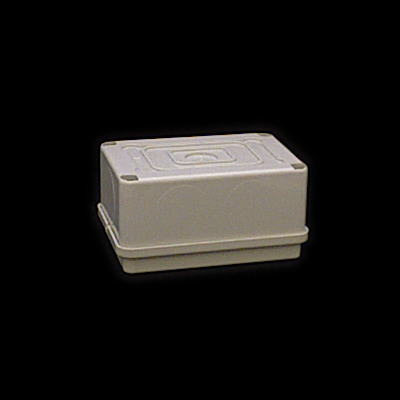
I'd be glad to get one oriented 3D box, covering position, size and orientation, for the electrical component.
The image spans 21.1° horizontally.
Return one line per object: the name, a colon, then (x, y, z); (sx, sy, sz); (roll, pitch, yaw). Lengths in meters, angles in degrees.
electrical component: (0.000, 0.000, 0.639); (0.113, 0.058, 0.077); (-5, 22, -14)
